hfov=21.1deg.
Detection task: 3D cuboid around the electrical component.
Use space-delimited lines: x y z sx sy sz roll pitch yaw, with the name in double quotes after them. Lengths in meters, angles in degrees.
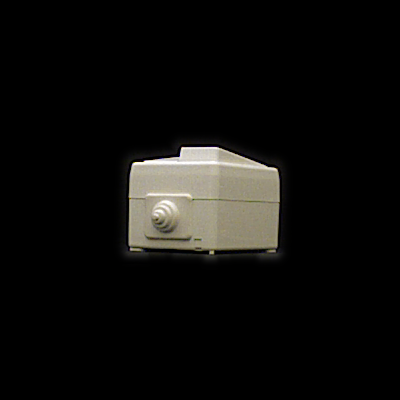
0.000 0.000 0.648 0.061 0.061 0.096 1 0 32 "electrical component"
